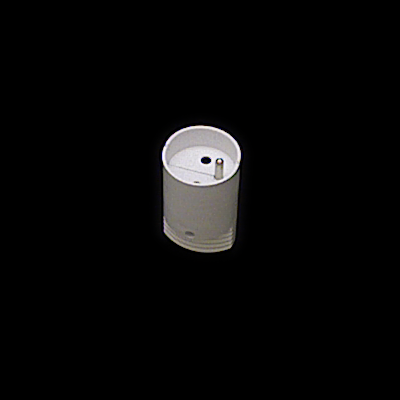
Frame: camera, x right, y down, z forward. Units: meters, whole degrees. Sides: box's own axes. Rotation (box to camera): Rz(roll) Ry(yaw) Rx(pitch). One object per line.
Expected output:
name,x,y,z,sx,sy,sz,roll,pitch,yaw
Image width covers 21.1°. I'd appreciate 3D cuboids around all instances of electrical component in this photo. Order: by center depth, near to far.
electrical component,0.000,0.000,0.620,0.043,0.043,0.081,0,-37,-1
